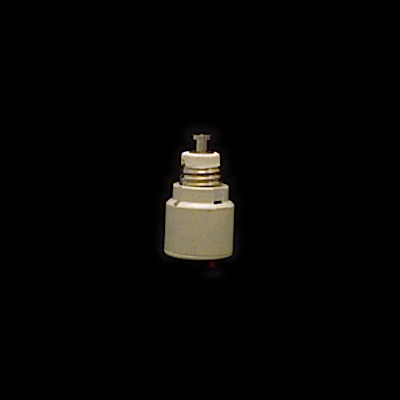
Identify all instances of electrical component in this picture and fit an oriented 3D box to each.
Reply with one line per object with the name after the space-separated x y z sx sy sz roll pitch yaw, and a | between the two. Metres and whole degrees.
0.000 0.000 0.641 0.040 0.079 0.040 2 10 0 | electrical component
